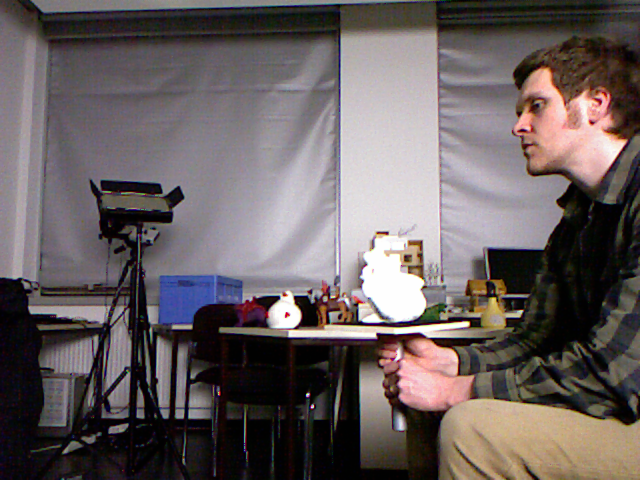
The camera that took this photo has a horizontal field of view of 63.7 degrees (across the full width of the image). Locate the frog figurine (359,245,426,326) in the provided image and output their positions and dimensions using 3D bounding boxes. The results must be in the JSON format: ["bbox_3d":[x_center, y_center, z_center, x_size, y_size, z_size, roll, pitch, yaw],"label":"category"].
[{"bbox_3d":[0.145,0.090,1.037,0.138,0.160,0.122,-3,0,-17],"label":"frog figurine"}]
